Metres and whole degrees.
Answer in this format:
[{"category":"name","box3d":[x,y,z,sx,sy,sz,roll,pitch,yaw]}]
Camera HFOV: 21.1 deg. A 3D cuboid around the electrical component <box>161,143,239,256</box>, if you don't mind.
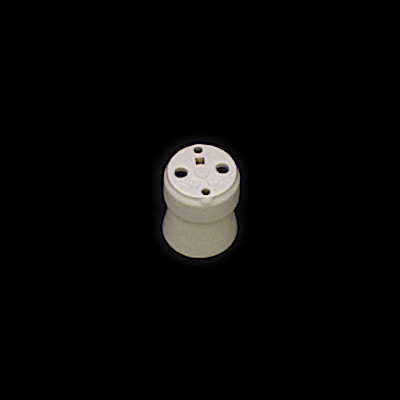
[{"category":"electrical component","box3d":[0.000,0.000,0.630,0.045,0.044,0.055,0,-37,-1]}]
